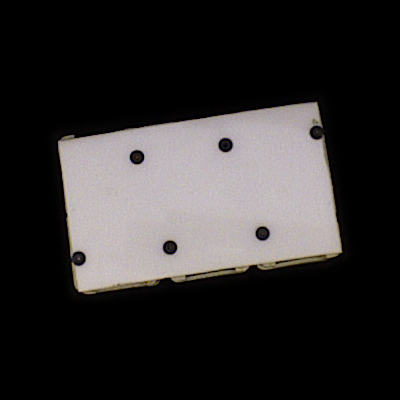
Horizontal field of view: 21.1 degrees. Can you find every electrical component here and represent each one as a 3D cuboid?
[{"bbox_3d":[0.000,0.000,0.631,0.150,0.089,0.061,-8,-6,-1],"label":"electrical component"}]
